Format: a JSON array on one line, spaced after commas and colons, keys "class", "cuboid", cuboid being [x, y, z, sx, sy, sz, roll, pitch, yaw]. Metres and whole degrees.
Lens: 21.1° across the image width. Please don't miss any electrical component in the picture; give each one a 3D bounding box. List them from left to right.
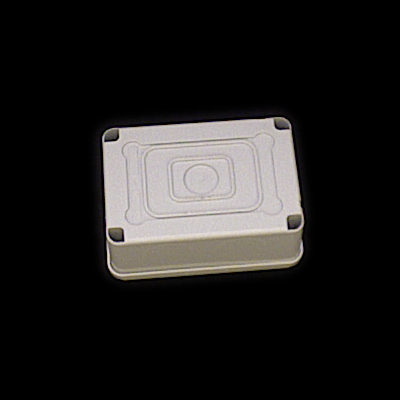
[{"class": "electrical component", "cuboid": [0.000, 0.000, 0.628, 0.113, 0.078, 0.057, -4, -27, -2]}]
